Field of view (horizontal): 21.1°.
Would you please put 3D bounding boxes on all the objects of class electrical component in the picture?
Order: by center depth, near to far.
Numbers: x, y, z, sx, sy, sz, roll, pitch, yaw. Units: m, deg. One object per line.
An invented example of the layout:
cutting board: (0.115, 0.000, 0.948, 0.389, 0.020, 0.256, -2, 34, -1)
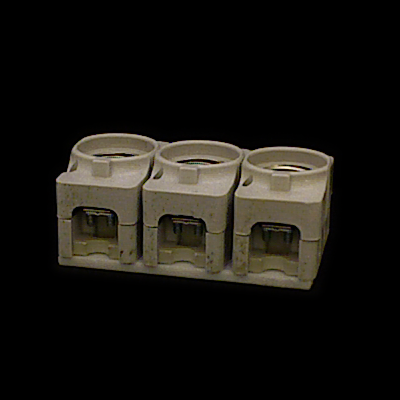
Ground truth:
electrical component: (0.000, 0.000, 0.643, 0.150, 0.063, 0.088, 5, 21, 11)
